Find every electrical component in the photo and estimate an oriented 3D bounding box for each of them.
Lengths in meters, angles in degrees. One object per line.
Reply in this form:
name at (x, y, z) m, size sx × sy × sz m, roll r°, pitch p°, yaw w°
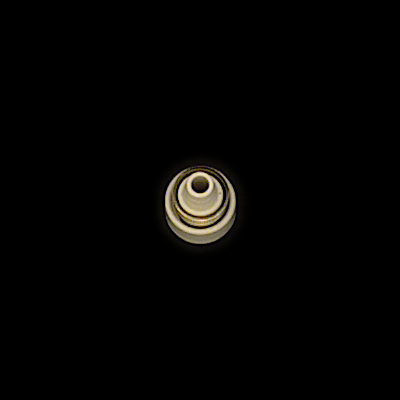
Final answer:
electrical component at (0.000, 0.000, 0.634) m, size 0.043 × 0.043 × 0.061 m, roll 0°, pitch -17°, yaw 0°
